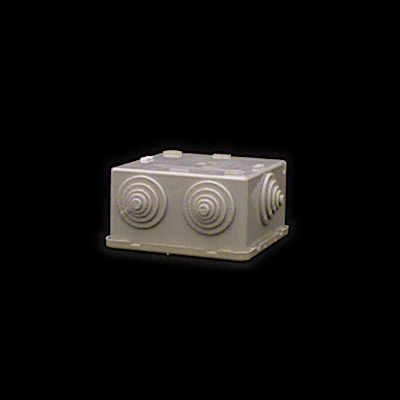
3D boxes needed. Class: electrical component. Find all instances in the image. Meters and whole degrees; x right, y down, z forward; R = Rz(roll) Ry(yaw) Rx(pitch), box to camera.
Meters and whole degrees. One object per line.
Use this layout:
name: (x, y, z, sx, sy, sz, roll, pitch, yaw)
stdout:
electrical component: (0.000, 0.000, 0.645, 0.099, 0.049, 0.099, 5, 11, 20)
